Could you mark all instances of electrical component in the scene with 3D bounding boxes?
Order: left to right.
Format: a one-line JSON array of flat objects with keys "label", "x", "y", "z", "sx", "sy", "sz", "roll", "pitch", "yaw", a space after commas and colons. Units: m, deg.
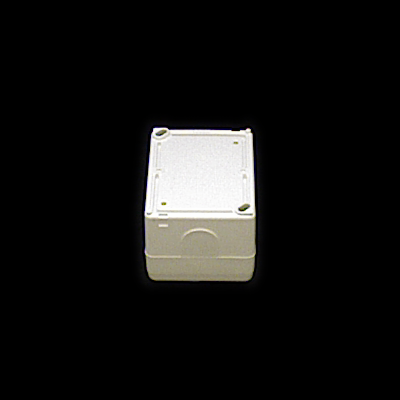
[{"label": "electrical component", "x": 0.000, "y": 0.000, "z": 0.636, "sx": 0.062, "sy": 0.062, "sz": 0.095, "roll": 0, "pitch": 42, "yaw": 1}]
